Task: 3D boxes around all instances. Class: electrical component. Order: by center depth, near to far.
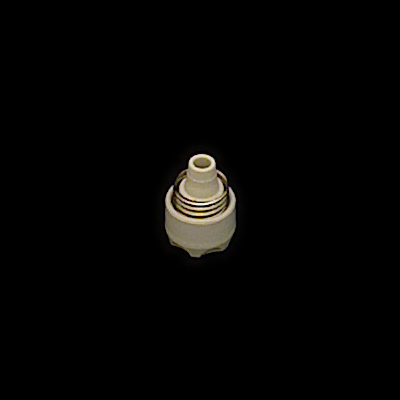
[{"bbox_3d":[0.000,0.000,0.637,0.043,0.062,0.043,1,44,0],"label":"electrical component"}]
